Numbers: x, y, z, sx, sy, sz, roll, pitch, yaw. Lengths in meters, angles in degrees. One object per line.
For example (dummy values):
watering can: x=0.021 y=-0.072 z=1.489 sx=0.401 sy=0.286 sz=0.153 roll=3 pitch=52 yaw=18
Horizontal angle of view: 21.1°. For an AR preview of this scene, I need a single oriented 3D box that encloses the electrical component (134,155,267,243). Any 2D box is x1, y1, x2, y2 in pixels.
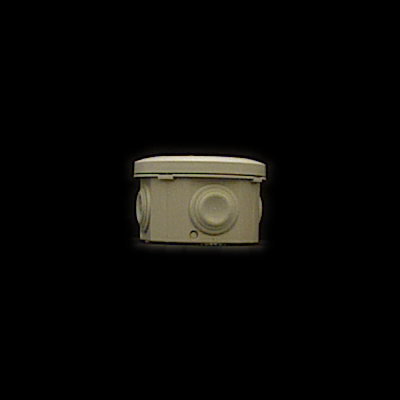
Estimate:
electrical component: x=0.000 y=0.000 z=0.652 sx=0.080 sy=0.051 sz=0.080 roll=1 pitch=0 yaw=0
